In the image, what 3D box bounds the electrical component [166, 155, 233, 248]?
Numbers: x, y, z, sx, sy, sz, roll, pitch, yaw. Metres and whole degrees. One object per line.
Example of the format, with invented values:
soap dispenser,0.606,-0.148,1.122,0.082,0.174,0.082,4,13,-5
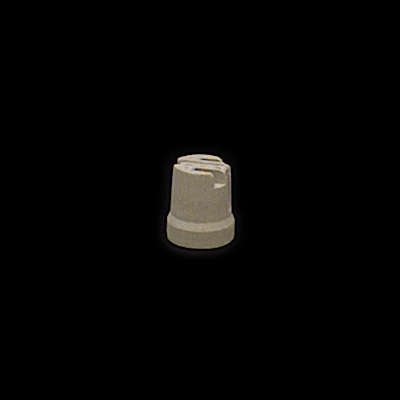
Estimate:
electrical component,0.000,0.000,0.641,0.040,0.046,0.040,1,22,0
